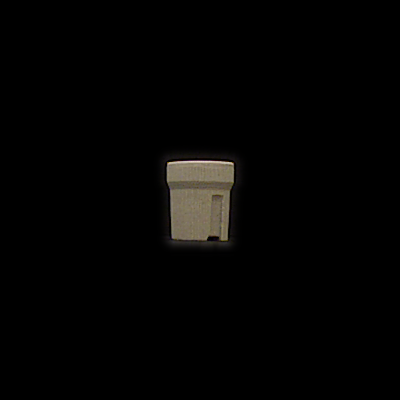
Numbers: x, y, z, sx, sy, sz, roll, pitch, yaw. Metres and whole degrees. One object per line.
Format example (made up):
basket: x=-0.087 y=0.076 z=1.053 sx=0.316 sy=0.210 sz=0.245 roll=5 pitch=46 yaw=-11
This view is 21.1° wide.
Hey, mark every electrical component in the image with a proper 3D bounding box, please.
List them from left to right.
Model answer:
electrical component: x=0.000 y=0.000 z=0.651 sx=0.040 sy=0.046 sz=0.040 roll=1 pitch=1 yaw=1
